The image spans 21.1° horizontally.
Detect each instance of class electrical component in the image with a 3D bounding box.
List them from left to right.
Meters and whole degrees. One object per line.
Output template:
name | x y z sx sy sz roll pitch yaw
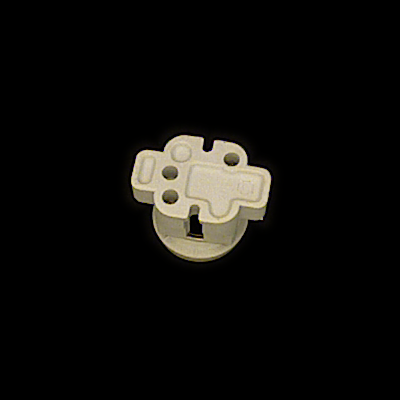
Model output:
electrical component | 0.000 0.000 0.636 0.078 0.058 0.057 9 -27 3
